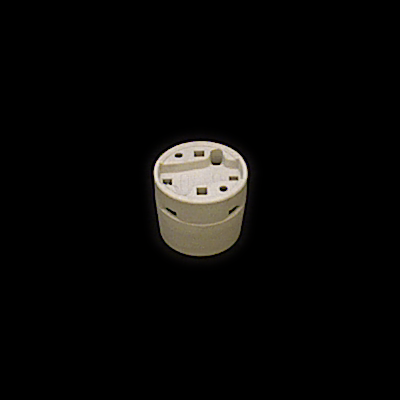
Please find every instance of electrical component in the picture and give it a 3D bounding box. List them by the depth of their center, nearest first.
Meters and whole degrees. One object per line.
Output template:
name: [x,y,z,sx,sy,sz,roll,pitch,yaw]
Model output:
electrical component: [0.000,0.000,0.635,0.055,0.047,0.055,1,42,0]
